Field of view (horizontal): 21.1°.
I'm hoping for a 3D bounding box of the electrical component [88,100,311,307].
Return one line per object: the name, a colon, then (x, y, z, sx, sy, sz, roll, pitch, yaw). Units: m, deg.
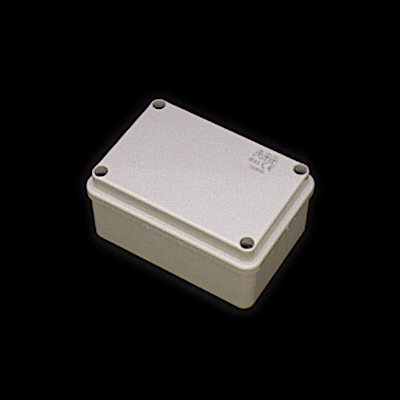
electrical component: (0.000, 0.000, 0.630, 0.113, 0.078, 0.057, 26, -33, 18)
